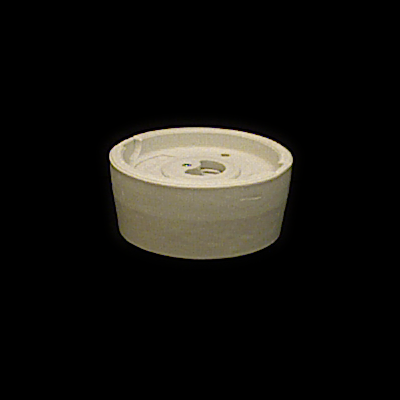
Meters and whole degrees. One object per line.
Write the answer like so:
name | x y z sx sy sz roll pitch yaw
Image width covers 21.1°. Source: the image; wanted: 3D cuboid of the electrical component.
electrical component | 0.000 0.000 0.645 0.108 0.061 0.106 2 22 0
